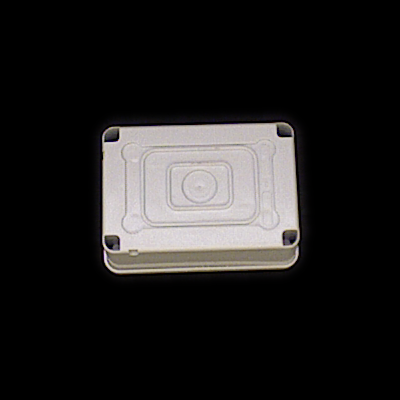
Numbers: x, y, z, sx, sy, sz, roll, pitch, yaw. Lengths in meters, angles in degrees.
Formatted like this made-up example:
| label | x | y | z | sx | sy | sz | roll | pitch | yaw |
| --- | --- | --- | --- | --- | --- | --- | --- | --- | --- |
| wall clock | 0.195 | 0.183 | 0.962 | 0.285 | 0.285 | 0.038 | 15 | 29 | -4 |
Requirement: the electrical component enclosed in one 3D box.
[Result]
| label | x | y | z | sx | sy | sz | roll | pitch | yaw |
| --- | --- | --- | --- | --- | --- | --- | --- | --- | --- |
| electrical component | 0.000 | 0.000 | 0.628 | 0.113 | 0.078 | 0.057 | -1 | -17 | -1 |
